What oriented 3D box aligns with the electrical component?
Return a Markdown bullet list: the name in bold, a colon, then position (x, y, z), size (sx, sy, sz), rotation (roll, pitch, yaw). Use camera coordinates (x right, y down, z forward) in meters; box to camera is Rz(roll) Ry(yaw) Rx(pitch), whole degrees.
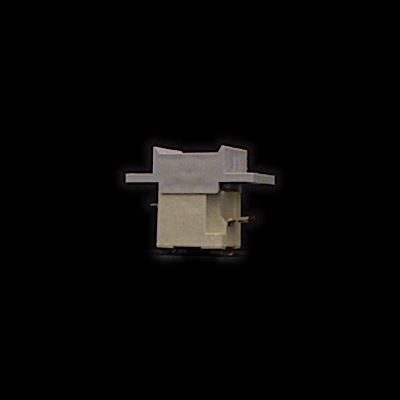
- **electrical component**: position (0.000, 0.000, 0.649), size (0.081, 0.063, 0.042), rotation (1, 0, 21)
